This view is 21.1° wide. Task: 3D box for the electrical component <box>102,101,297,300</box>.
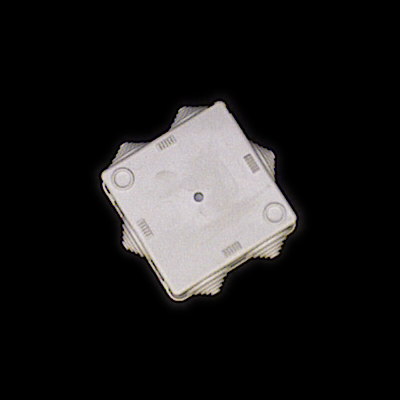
[{"bbox_3d":[0.000,0.000,0.632,0.100,0.100,0.048,-32,-5,-4],"label":"electrical component"}]
